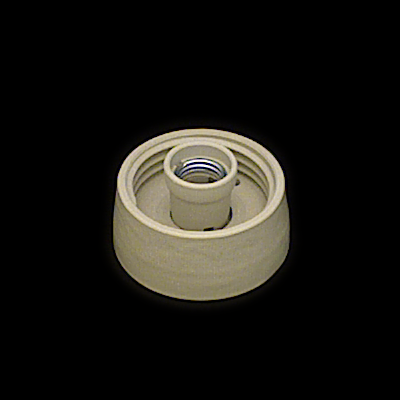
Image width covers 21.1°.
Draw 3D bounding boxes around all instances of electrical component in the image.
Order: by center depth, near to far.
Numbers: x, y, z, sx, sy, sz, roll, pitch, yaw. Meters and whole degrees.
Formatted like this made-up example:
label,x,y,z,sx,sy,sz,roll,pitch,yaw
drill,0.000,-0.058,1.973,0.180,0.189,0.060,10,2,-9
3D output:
label,x,y,z,sx,sy,sz,roll,pitch,yaw
electrical component,0.000,0.000,0.637,0.108,0.061,0.107,1,43,0
